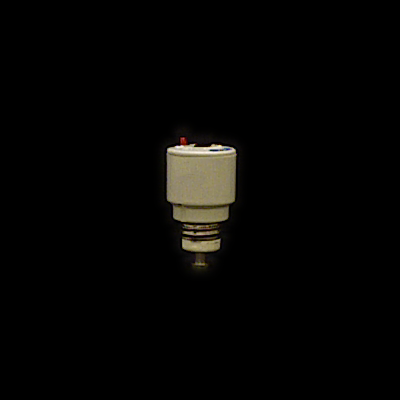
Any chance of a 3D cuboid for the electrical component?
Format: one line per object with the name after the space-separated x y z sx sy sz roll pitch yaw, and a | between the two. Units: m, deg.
0.000 0.000 0.644 0.040 0.079 0.040 1 11 0 | electrical component
